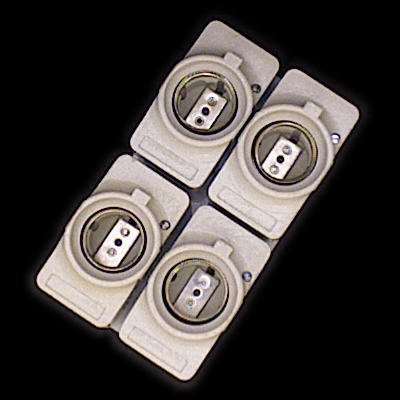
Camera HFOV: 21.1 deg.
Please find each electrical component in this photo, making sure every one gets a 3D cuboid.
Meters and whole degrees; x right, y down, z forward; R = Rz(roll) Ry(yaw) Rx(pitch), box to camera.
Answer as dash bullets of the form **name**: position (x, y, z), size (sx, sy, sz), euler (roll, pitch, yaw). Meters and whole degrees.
- **electrical component**: position (0.000, 0.000, 0.626), size (0.105, 0.187, 0.060), euler (33, -6, 4)
